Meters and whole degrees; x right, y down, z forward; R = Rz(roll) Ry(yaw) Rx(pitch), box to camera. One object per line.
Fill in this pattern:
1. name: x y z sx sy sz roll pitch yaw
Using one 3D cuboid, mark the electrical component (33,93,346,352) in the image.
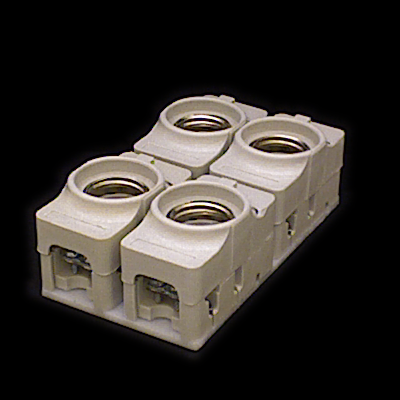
1. electrical component: 0.000 0.000 0.634 0.105 0.061 0.185 18 35 26
